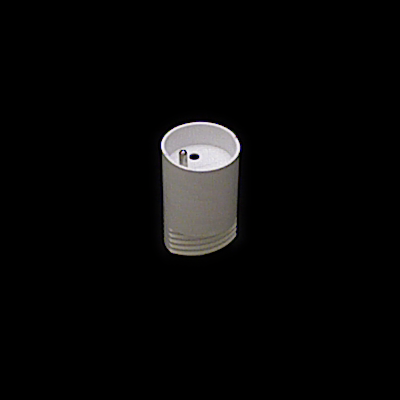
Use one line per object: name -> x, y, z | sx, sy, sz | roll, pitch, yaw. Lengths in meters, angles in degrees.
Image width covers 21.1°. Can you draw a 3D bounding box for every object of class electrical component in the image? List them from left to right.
electrical component -> 0.000, 0.000, 0.621 | 0.043, 0.082, 0.042 | 0, 41, 0
